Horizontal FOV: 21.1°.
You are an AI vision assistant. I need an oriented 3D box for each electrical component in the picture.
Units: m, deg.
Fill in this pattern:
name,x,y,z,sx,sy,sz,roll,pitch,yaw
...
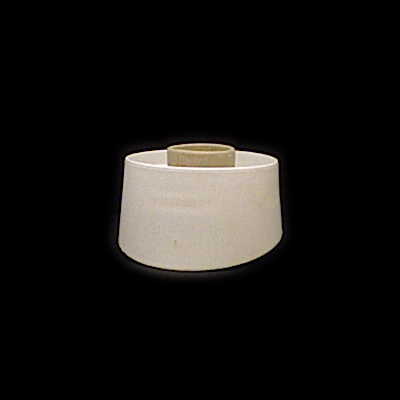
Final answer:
name,x,y,z,sx,sy,sz,roll,pitch,yaw
electrical component,0.000,0.000,0.644,0.099,0.064,0.098,1,11,0
